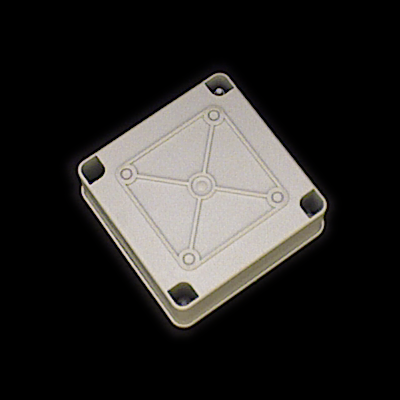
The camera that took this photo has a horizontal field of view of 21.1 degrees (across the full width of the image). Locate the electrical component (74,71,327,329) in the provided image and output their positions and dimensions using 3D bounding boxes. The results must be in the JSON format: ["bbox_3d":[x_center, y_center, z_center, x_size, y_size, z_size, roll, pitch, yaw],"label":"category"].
[{"bbox_3d":[0.000,0.000,0.628,0.109,0.108,0.056,-34,-14,-10],"label":"electrical component"}]
